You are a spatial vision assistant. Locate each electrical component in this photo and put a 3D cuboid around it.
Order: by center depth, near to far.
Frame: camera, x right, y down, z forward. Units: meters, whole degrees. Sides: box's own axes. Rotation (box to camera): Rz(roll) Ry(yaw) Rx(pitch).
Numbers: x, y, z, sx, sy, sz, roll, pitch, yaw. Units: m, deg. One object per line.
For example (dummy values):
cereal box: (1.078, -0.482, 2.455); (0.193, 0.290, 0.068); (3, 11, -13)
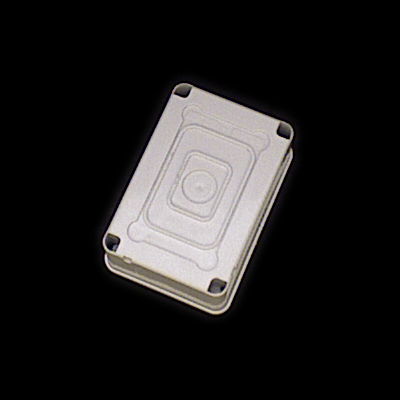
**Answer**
electrical component: (0.000, 0.000, 0.628); (0.078, 0.113, 0.057); (22, -16, 6)
